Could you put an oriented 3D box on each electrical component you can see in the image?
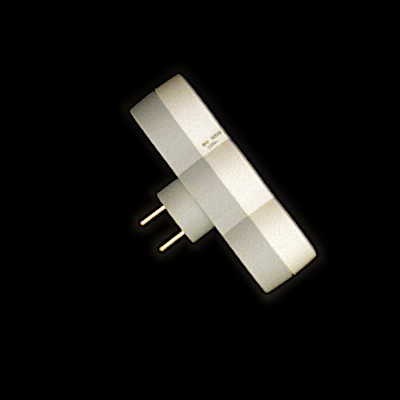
[{"bbox_3d":[0.000,0.000,0.639,0.074,0.138,0.052,-37,-4,-2],"label":"electrical component"}]
